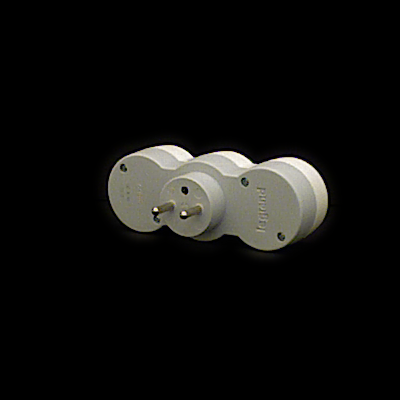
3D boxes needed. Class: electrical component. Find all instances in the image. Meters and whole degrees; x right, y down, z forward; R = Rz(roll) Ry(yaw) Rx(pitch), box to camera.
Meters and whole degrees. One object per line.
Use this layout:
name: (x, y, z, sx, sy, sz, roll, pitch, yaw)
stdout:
electrical component: (0.000, 0.000, 0.650, 0.136, 0.052, 0.074, 8, 15, 29)
